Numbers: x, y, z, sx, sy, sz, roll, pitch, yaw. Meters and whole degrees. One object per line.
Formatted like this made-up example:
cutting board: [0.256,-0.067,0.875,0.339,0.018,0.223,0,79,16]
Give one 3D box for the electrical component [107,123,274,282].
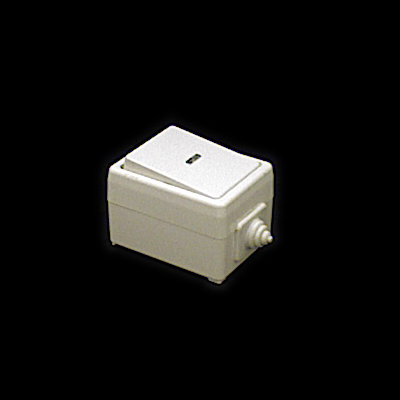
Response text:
electrical component: [0.000,0.000,0.633,0.096,0.061,0.061,18,35,27]
